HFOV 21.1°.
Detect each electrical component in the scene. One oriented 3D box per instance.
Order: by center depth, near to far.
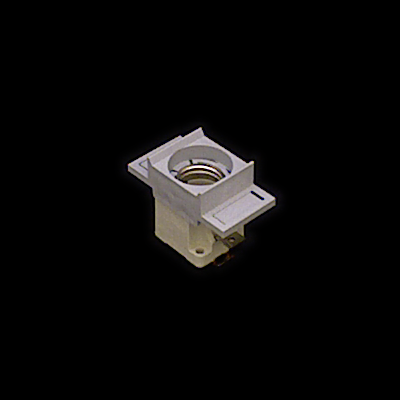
[{"bbox_3d":[0.000,0.000,0.628,0.042,0.064,0.080,-31,50,-32],"label":"electrical component"}]
